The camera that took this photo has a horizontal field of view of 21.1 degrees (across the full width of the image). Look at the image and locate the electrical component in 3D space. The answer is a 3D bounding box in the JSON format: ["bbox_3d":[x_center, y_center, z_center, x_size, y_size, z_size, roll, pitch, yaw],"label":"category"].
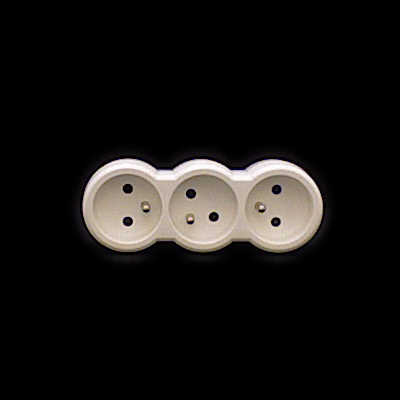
[{"bbox_3d":[0.000,0.000,0.644,0.138,0.052,0.073,0,9,-4],"label":"electrical component"}]
